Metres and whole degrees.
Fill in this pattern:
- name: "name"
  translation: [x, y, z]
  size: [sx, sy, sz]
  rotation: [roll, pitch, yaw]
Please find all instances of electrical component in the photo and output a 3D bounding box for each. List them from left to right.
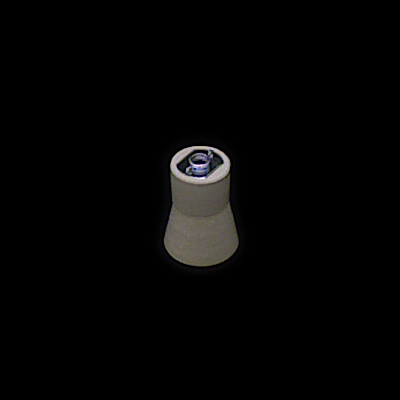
- name: "electrical component"
  translation: [0.000, 0.000, 0.630]
  size: [0.044, 0.066, 0.044]
  rotation: [0, 41, 1]
